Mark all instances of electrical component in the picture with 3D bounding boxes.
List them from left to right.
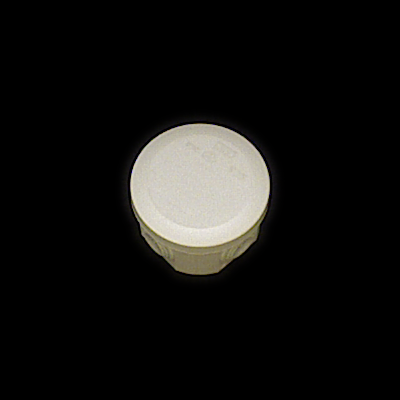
[{"bbox_3d":[0.000,0.000,0.629,0.080,0.080,0.050,0,-27,0],"label":"electrical component"}]
